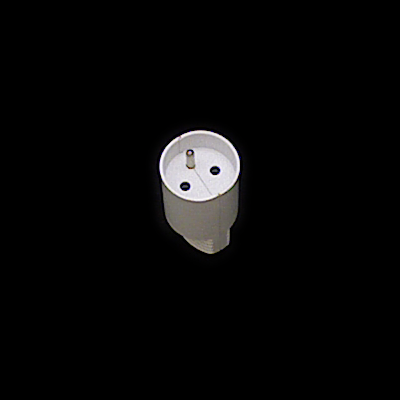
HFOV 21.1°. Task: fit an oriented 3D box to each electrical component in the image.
[{"bbox_3d":[0.000,0.000,0.616,0.043,0.043,0.081,0,-28,0],"label":"electrical component"}]
